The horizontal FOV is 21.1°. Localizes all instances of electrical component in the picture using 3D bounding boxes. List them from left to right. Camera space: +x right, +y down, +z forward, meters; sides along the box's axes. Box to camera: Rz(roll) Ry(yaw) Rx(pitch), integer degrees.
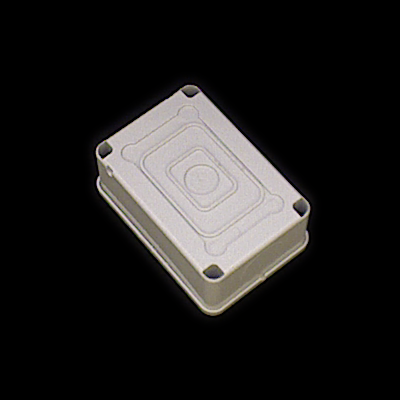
[{"bbox_3d":[0.000,0.000,0.628,0.078,0.113,0.057,-36,-21,-17],"label":"electrical component"}]
